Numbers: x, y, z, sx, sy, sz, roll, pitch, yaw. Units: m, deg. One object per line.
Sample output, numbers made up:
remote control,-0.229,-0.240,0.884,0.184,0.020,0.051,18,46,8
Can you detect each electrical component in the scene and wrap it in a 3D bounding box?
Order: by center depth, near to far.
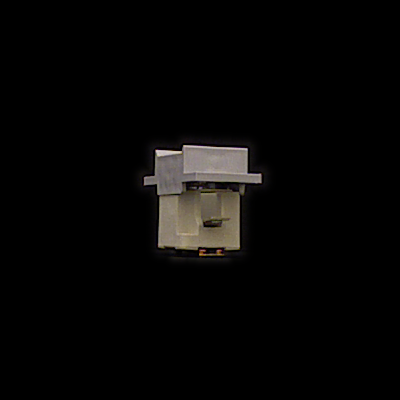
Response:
electrical component,0.000,0.000,0.647,0.042,0.063,0.081,2,-1,-24
